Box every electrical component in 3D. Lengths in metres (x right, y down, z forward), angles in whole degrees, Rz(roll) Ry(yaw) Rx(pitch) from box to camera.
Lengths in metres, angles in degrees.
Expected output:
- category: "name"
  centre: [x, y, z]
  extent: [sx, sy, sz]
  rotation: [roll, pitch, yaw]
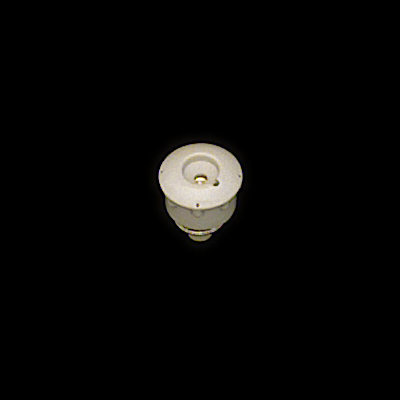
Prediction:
- category: "electrical component"
  centre: [0.000, 0.000, 0.636]
  extent: [0.048, 0.048, 0.062]
  rotation: [0, -37, 0]
